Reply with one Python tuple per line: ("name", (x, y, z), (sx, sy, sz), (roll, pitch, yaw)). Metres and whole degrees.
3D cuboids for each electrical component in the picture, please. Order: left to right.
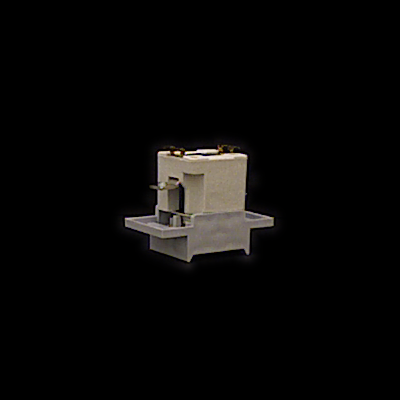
("electrical component", (0.000, 0.000, 0.645), (0.081, 0.064, 0.042), (-6, 13, -35))
